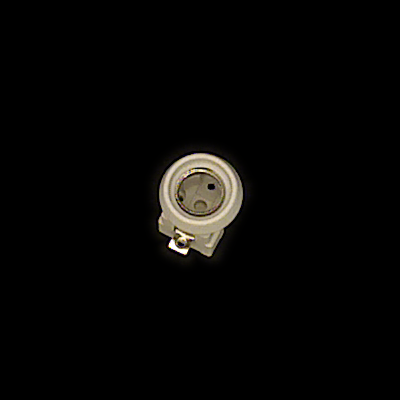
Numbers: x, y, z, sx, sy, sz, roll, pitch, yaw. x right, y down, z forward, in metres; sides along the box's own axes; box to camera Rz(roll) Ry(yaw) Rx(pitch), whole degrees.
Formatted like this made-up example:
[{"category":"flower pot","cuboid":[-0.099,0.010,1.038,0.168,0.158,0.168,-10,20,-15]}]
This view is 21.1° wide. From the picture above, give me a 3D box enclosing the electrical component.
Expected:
[{"category":"electrical component","cuboid":[0.000,0.000,0.637,0.048,0.067,0.055,24,-15,9]}]
